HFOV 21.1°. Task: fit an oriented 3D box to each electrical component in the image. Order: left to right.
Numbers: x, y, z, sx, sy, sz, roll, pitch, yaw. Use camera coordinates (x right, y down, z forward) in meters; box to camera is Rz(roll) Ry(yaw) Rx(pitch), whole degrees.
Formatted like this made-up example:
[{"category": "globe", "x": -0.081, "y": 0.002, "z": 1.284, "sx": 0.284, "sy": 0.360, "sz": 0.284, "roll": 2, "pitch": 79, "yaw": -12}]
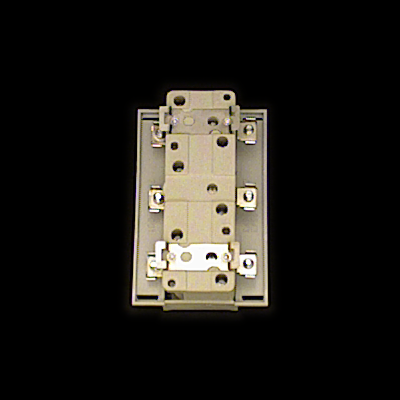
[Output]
[{"category": "electrical component", "x": 0.000, "y": 0.000, "z": 0.633, "sx": 0.079, "sy": 0.122, "sz": 0.062, "roll": 0, "pitch": -16, "yaw": 1}]
